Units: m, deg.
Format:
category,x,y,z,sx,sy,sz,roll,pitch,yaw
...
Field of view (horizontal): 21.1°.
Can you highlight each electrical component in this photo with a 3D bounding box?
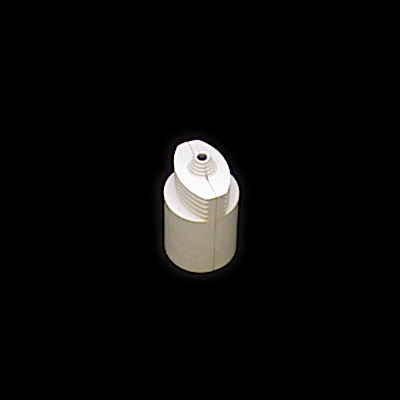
category,x,y,z,sx,sy,sz,roll,pitch,yaw
electrical component,0.000,0.000,0.619,0.043,0.043,0.081,0,-38,0
